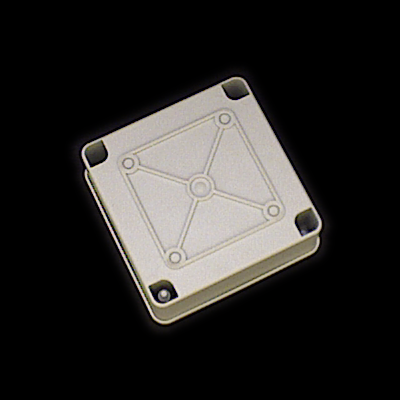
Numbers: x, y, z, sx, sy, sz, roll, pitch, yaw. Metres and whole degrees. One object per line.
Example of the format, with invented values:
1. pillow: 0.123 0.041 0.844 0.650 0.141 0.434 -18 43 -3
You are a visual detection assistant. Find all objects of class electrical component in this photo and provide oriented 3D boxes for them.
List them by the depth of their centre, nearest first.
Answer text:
1. electrical component: 0.000 0.000 0.627 0.109 0.109 0.056 -25 -15 -7
